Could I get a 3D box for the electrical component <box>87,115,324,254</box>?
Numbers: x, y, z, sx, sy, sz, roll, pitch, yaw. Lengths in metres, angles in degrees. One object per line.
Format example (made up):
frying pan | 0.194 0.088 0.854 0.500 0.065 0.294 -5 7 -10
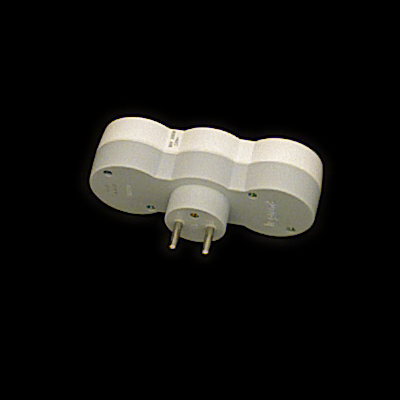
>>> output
electrical component | 0.000 0.000 0.637 0.138 0.074 0.052 9 -35 6
